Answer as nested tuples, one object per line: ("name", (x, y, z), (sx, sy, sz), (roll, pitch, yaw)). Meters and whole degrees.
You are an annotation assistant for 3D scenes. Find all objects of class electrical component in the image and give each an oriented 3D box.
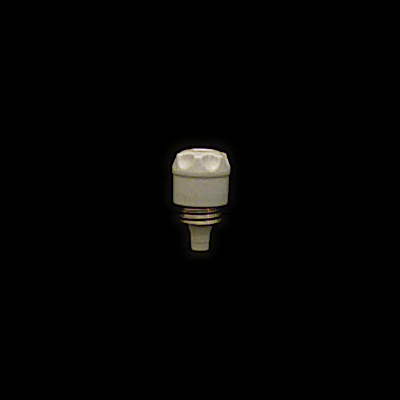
("electrical component", (0.000, 0.000, 0.653), (0.035, 0.062, 0.035), (1, 12, 0))
